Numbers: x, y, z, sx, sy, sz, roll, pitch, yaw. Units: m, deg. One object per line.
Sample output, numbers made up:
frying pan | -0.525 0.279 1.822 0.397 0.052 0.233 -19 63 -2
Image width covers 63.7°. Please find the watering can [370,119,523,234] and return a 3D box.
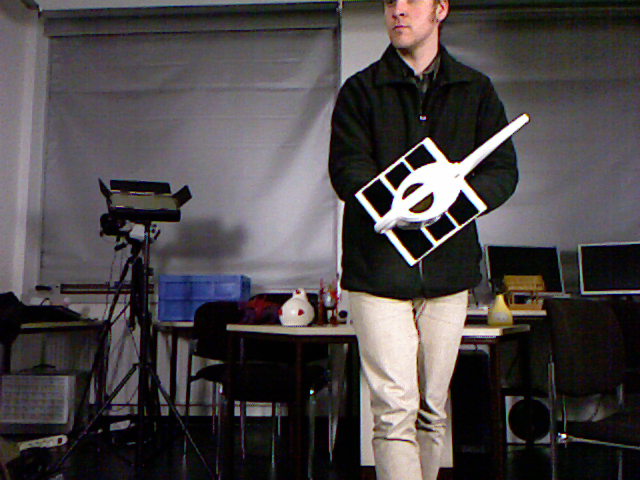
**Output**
watering can | 0.248 -0.115 1.056 0.348 0.104 0.224 -35 -4 1
